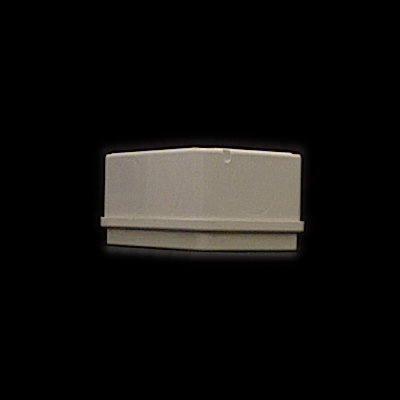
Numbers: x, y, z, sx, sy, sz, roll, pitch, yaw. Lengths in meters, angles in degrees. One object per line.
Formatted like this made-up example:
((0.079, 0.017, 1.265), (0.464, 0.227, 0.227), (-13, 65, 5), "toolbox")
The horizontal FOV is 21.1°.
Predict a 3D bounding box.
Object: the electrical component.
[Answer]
((0.000, 0.000, 0.649), (0.078, 0.057, 0.113), (1, 0, -35), "electrical component")
